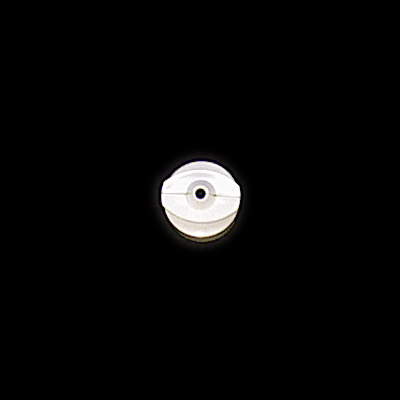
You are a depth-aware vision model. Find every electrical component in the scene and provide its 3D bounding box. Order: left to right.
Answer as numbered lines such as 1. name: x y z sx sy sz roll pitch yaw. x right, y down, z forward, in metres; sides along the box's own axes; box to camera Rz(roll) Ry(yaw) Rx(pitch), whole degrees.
1. electrical component: 0.000 0.000 0.616 0.043 0.043 0.080 0 -6 1
